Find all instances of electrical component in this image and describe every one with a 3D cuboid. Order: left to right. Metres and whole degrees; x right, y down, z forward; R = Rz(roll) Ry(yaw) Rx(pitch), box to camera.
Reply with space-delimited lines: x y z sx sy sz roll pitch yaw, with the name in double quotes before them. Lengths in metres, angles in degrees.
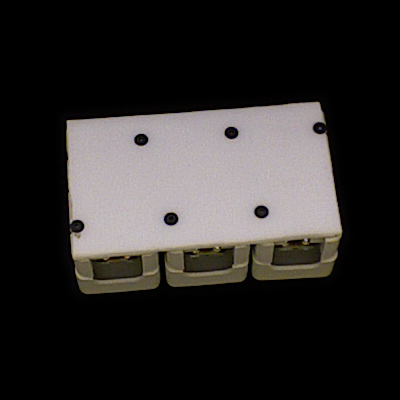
"electrical component" 0.000 0.000 0.632 0.150 0.089 0.062 -4 -27 -3
